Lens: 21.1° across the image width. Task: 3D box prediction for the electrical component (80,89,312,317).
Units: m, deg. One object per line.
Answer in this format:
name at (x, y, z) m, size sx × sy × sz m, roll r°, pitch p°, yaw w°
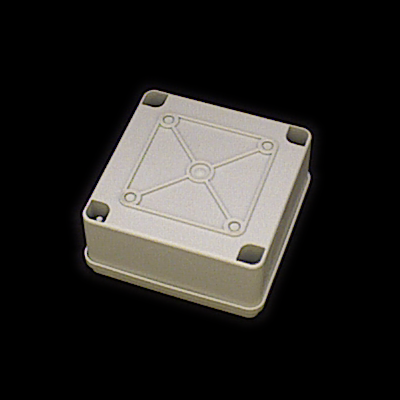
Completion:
electrical component at (0.000, 0.000, 0.628) m, size 0.108 × 0.108 × 0.056 m, roll 16°, pitch -36°, yaw 12°
